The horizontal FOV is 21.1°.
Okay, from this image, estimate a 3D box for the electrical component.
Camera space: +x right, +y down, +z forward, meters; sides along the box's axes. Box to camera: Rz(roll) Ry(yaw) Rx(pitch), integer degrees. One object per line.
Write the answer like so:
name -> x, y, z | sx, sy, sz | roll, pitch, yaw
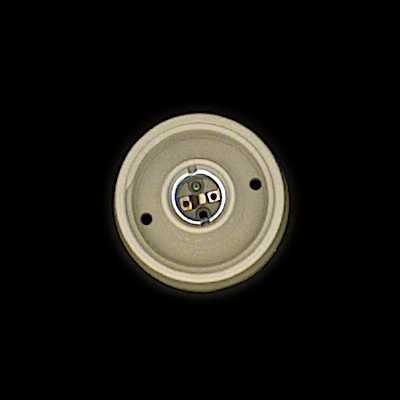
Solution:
electrical component -> 0.000, 0.000, 0.635 | 0.108, 0.108, 0.060 | 0, -6, 0
